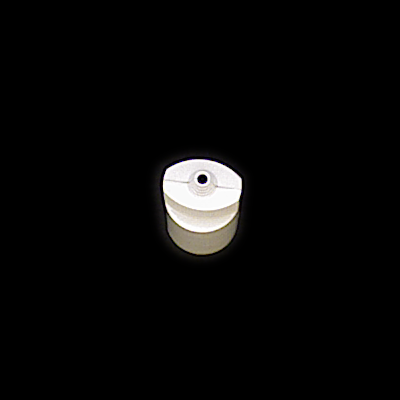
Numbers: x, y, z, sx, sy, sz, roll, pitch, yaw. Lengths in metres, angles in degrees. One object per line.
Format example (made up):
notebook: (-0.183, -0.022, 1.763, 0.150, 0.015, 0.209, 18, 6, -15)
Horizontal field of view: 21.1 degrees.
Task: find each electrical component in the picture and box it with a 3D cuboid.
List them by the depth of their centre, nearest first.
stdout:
electrical component: (0.000, 0.000, 0.616, 0.043, 0.043, 0.080, 0, -17, 0)
